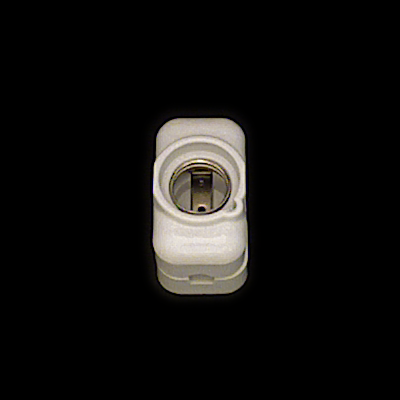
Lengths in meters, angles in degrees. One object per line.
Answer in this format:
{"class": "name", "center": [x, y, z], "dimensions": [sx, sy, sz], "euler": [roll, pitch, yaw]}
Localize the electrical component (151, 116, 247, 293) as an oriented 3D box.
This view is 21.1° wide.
{"class": "electrical component", "center": [0.000, 0.000, 0.634], "dimensions": [0.054, 0.095, 0.059], "euler": [0, -26, 1]}
